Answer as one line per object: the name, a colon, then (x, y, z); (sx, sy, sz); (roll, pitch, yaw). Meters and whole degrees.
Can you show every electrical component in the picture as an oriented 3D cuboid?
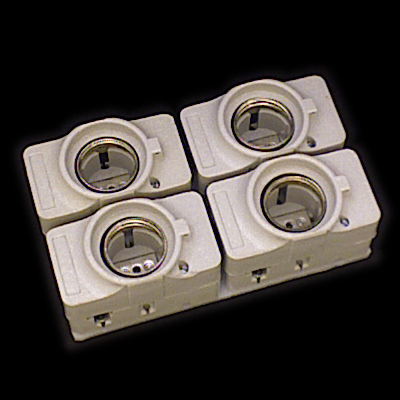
electrical component: (0.000, 0.000, 0.626); (0.186, 0.105, 0.060); (-15, -26, -8)
